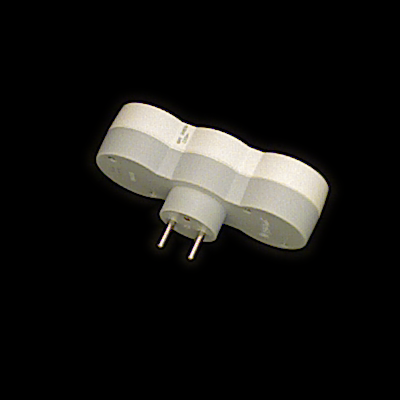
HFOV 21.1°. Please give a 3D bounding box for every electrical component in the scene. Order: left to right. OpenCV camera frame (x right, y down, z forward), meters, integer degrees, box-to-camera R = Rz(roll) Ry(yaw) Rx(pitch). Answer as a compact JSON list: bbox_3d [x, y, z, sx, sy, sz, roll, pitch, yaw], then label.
[{"bbox_3d":[0.000,0.000,0.637,0.138,0.074,0.052,21,-23,10],"label":"electrical component"}]
